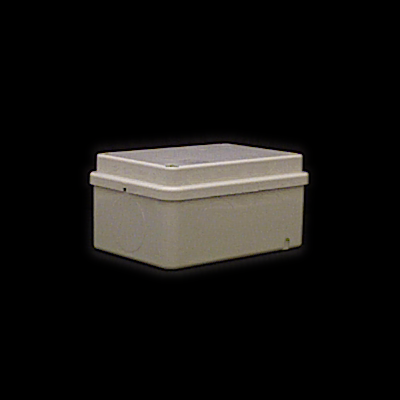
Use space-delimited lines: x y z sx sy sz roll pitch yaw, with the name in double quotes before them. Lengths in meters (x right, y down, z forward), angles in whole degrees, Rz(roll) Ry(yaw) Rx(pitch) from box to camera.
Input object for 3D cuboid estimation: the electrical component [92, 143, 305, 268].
"electrical component" 0.000 0.000 0.643 0.113 0.057 0.077 -7 14 -41
